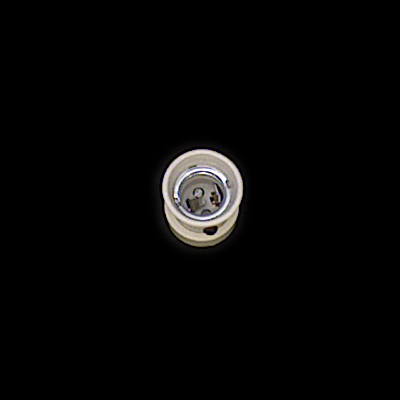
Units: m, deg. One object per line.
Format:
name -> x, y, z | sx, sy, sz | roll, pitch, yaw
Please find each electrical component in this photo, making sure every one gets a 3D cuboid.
electrical component -> 0.000, 0.000, 0.628 | 0.045, 0.045, 0.055 | 0, -17, 0
